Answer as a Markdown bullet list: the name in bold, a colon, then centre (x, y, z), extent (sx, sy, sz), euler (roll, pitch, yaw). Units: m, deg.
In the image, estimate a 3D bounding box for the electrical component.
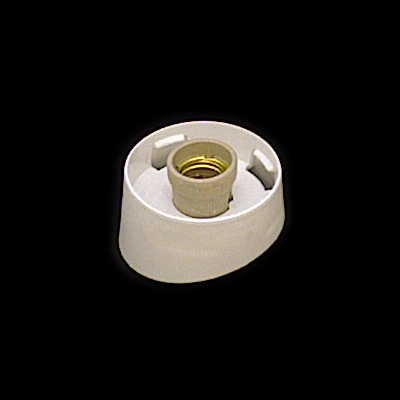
- **electrical component**: centre (0.000, 0.000, 0.630), extent (0.099, 0.065, 0.098), euler (0, 42, 0)
